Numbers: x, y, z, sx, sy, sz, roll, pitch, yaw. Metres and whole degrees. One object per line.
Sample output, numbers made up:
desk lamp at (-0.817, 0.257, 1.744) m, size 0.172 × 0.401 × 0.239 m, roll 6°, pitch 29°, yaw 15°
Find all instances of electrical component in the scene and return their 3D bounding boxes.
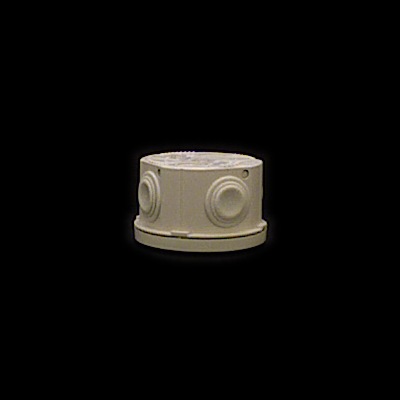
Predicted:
electrical component at (0.000, 0.000, 0.645) m, size 0.080 × 0.051 × 0.079 m, roll 1°, pitch 10°, yaw 0°
